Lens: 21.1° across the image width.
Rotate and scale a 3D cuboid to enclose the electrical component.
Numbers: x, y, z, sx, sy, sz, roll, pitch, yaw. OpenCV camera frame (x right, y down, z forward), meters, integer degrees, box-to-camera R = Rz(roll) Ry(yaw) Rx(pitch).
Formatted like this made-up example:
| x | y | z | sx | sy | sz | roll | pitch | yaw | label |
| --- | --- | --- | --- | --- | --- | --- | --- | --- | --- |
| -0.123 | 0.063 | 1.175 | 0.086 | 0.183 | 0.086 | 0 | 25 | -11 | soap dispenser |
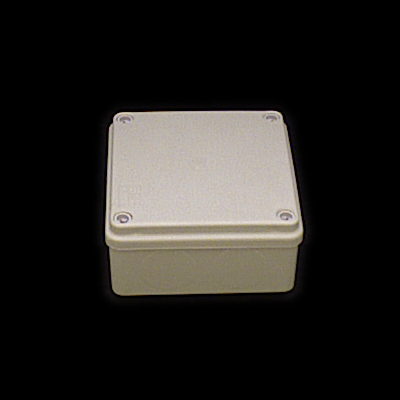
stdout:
| x | y | z | sx | sy | sz | roll | pitch | yaw | label |
| --- | --- | --- | --- | --- | --- | --- | --- | --- | --- |
| 0.000 | 0.000 | 0.633 | 0.109 | 0.057 | 0.107 | -1 | 42 | -3 | electrical component |
